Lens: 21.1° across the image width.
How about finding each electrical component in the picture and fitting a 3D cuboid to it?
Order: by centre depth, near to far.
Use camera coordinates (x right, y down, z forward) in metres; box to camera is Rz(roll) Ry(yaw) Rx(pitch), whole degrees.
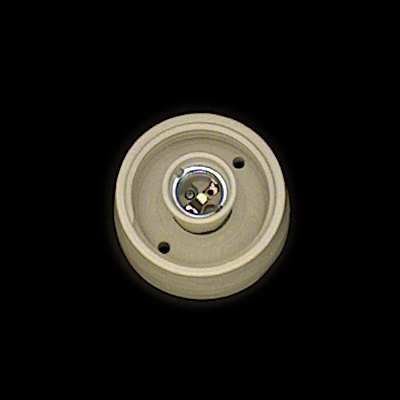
[{"bbox_3d":[0.000,0.000,0.633,0.108,0.108,0.060,0,-16,0],"label":"electrical component"}]
